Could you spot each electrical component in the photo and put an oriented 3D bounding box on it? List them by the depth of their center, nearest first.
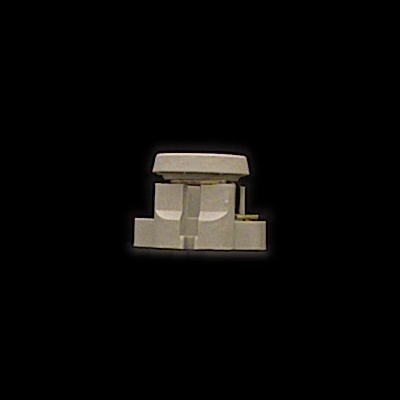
[{"bbox_3d":[0.000,0.000,0.650,0.078,0.057,0.058,1,1,14],"label":"electrical component"}]
